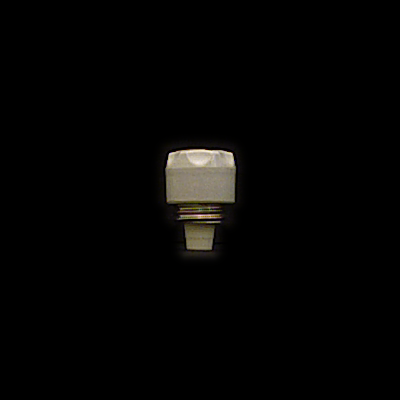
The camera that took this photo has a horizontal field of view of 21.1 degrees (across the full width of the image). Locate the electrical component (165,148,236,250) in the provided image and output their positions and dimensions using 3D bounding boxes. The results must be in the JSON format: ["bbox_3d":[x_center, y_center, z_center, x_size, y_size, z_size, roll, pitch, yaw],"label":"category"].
[{"bbox_3d":[0.000,0.000,0.657,0.043,0.062,0.043,1,1,1],"label":"electrical component"}]
